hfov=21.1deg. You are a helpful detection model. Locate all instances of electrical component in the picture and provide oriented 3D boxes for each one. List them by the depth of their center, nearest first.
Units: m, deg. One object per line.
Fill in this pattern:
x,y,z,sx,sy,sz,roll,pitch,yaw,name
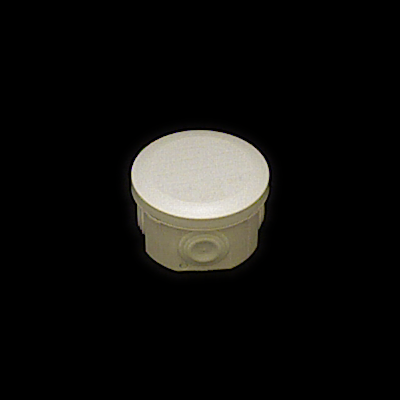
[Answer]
0.000,0.000,0.632,0.080,0.051,0.080,0,42,0,electrical component
